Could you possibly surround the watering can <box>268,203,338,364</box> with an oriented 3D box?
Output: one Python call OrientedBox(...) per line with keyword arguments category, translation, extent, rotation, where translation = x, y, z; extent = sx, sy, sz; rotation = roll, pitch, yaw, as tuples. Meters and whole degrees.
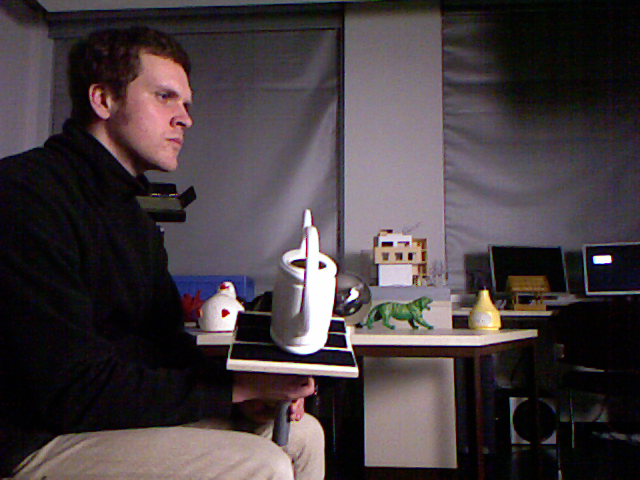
OrientedBox(category="watering can", translation=(-0.029, 0.067, 0.900), extent=(0.104, 0.222, 0.353), rotation=(7, 17, -5))
